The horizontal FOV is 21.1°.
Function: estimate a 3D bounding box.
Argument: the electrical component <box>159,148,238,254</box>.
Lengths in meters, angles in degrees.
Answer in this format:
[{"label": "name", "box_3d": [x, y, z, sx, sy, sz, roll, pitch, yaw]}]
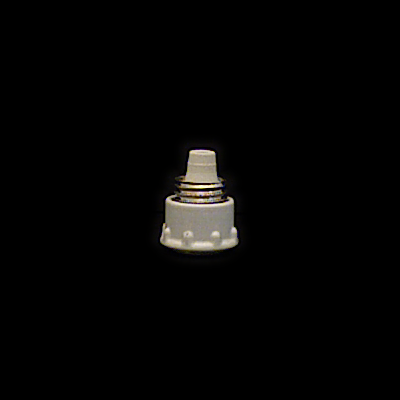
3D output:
[{"label": "electrical component", "box_3d": [0.000, 0.000, 0.652, 0.048, 0.062, 0.048, 2, 12, 0]}]
